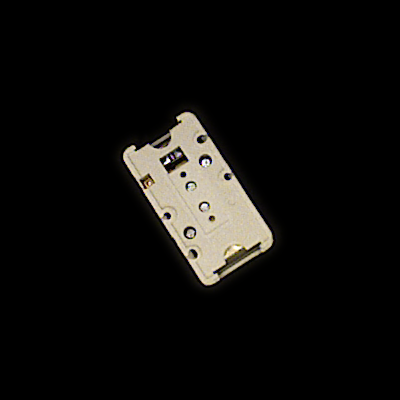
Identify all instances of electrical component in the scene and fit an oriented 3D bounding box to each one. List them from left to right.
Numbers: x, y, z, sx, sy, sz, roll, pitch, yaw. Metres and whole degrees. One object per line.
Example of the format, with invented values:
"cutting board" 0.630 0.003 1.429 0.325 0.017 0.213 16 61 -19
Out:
"electrical component" 0.000 0.000 0.637 0.050 0.089 0.055 -33 -6 -2
